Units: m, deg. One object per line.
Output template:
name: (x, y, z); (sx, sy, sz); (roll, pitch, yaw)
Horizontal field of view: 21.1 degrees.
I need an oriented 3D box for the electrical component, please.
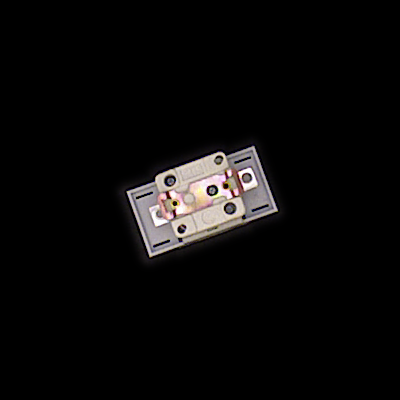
electrical component: (0.000, 0.000, 0.626); (0.081, 0.042, 0.063); (-20, -6, -2)
